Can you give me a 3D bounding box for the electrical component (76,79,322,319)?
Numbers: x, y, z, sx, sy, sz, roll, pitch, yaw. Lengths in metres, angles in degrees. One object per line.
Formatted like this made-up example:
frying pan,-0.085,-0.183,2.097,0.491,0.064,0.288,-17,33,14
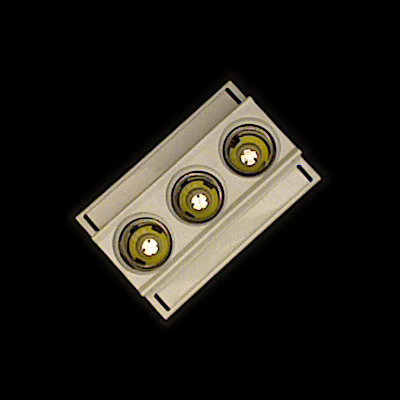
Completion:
electrical component,0.000,0.000,0.637,0.121,0.079,0.063,-42,-6,-3
